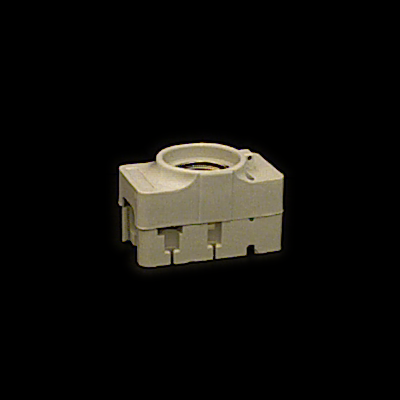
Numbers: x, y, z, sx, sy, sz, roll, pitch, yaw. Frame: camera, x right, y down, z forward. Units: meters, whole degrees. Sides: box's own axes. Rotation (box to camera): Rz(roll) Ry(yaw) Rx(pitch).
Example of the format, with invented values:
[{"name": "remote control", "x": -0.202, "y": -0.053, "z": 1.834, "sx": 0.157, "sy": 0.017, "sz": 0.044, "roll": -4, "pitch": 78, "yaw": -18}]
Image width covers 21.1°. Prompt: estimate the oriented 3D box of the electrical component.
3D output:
[{"name": "electrical component", "x": 0.000, "y": 0.000, "z": 0.646, "sx": 0.090, "sy": 0.056, "sz": 0.049, "roll": -7, "pitch": 23, "yaw": -19}]
